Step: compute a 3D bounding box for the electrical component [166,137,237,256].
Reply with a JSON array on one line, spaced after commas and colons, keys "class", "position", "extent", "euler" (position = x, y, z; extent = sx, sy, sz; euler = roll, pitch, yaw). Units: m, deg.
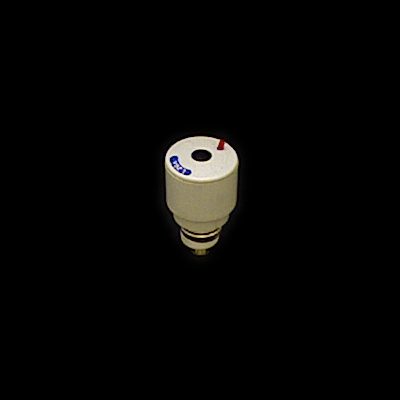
[{"class": "electrical component", "position": [0.000, 0.000, 0.625], "extent": [0.040, 0.079, 0.039], "euler": [1, 41, -1]}]
